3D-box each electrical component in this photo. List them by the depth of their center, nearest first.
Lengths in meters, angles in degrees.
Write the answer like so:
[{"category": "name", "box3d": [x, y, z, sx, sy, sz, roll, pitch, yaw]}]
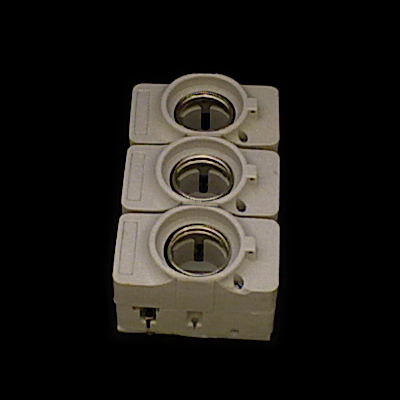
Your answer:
[{"category": "electrical component", "box3d": [0.000, 0.000, 0.634, 0.089, 0.148, 0.062, 2, -37, 1]}]
